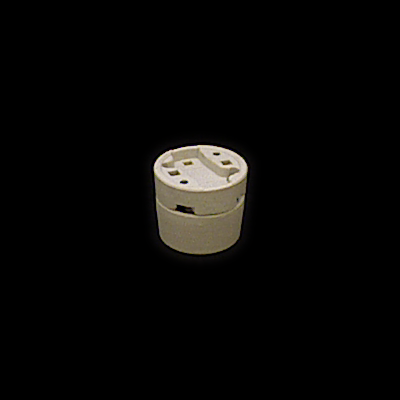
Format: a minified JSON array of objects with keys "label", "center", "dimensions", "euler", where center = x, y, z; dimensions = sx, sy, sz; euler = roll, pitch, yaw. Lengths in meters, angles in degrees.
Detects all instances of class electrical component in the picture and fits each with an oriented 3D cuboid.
[{"label":"electrical component","center":[0.000,0.000,0.639],"dimensions":[0.055,0.047,0.055],"euler":[1,32,0]}]
